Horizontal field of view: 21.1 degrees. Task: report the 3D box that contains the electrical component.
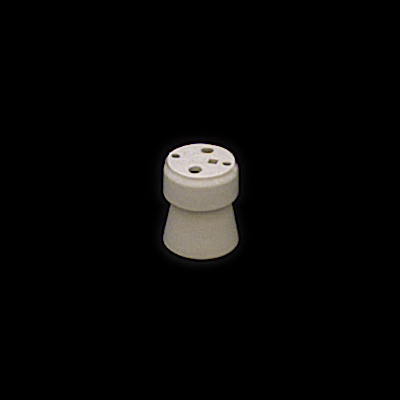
[{"bbox_3d":[0.000,0.000,0.634,0.045,0.056,0.044,0,32,0],"label":"electrical component"}]
